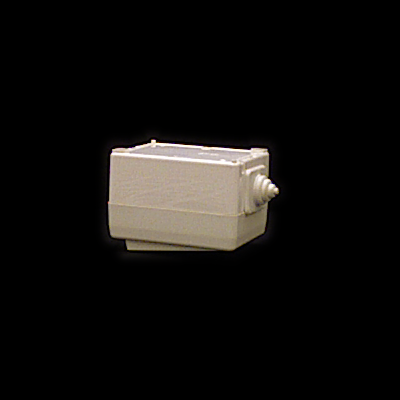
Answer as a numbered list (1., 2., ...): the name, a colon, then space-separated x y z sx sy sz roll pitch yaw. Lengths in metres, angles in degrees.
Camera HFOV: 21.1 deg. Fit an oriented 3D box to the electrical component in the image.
1. electrical component: 0.000 0.000 0.641 0.096 0.061 0.061 6 12 21
